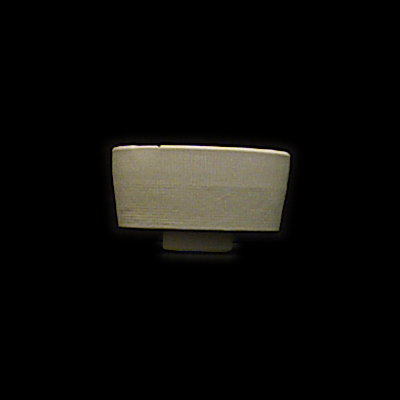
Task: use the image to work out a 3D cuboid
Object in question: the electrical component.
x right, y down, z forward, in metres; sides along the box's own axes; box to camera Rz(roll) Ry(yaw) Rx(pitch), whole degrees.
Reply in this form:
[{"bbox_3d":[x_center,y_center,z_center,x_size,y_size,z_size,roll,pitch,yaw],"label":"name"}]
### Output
[{"bbox_3d":[0.000,0.000,0.652,0.108,0.060,0.108,2,0,1],"label":"electrical component"}]
